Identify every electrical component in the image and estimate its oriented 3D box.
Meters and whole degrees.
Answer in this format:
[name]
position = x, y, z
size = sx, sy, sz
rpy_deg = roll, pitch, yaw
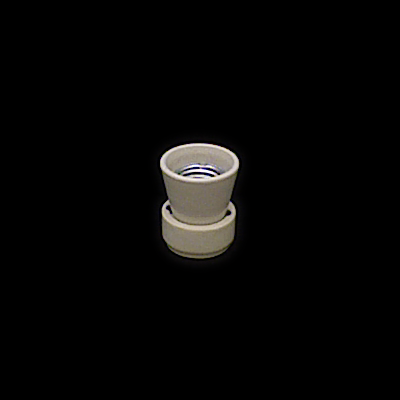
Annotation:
[electrical component]
position = 0.000, 0.000, 0.634
size = 0.045, 0.056, 0.044
rpy_deg = 0, 32, 0
